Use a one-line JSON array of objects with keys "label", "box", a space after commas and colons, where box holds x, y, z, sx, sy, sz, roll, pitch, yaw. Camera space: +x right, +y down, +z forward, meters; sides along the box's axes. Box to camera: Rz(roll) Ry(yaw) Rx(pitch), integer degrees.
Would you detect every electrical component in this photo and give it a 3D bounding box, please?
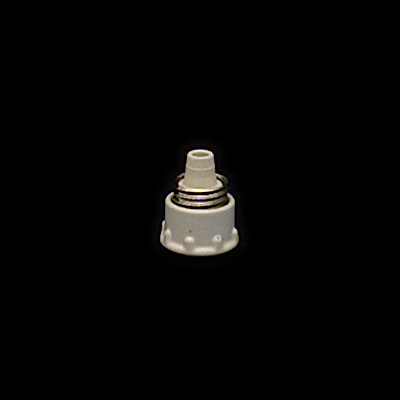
[{"label": "electrical component", "box": [0.000, 0.000, 0.644, 0.048, 0.063, 0.047, 1, 23, 0]}]
